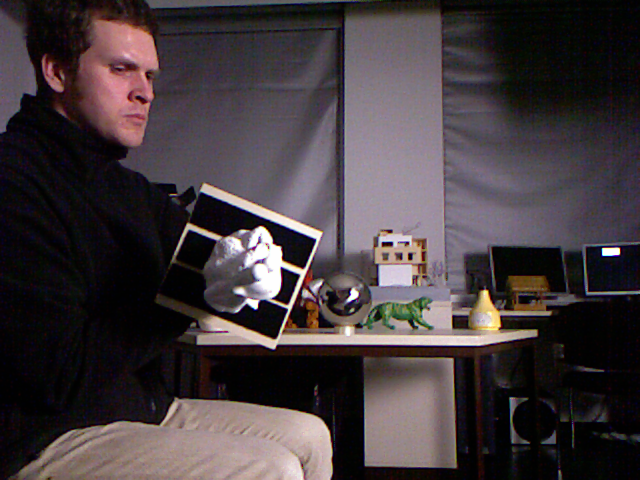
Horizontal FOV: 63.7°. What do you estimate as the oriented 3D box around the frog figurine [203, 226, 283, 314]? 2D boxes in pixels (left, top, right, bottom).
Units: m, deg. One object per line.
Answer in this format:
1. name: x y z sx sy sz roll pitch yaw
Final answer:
1. frog figurine: -0.114 0.045 0.742 0.123 0.138 0.159 42 -3 2
